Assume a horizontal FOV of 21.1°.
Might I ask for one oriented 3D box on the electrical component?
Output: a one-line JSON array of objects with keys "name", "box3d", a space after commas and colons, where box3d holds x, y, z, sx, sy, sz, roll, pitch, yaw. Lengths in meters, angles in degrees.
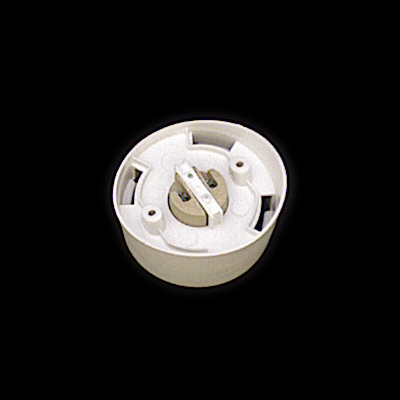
[{"name": "electrical component", "box3d": [0.000, 0.000, 0.624, 0.099, 0.099, 0.064, 0, -27, -1]}]
